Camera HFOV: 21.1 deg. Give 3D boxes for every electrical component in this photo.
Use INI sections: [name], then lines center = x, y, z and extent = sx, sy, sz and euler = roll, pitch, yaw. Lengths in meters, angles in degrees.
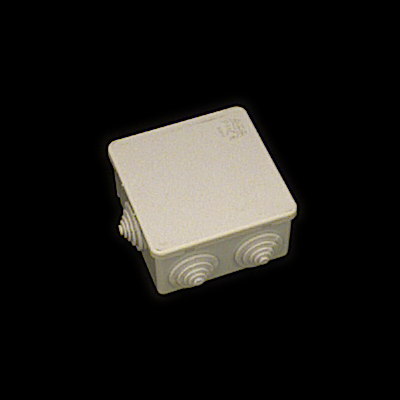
[electrical component]
center = 0.000, 0.000, 0.641
extent = 0.100, 0.099, 0.049
euler = -17, -35, -13
